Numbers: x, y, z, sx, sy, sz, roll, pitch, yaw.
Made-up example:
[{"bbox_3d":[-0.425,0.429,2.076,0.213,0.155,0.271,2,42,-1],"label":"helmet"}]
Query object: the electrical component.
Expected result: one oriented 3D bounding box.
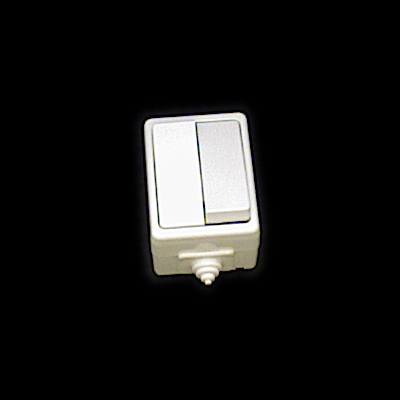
[{"bbox_3d":[0.000,0.000,0.625,0.062,0.096,0.060,-4,-28,-2],"label":"electrical component"}]
